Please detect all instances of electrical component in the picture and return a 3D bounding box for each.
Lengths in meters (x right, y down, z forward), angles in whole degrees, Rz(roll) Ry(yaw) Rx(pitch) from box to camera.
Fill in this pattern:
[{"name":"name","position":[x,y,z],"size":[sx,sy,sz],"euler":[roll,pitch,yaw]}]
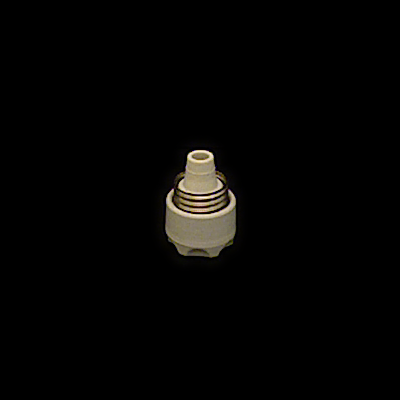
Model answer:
[{"name":"electrical component","position":[0.000,0.000,0.642],"size":[0.043,0.063,0.043],"euler":[0,31,0]}]
